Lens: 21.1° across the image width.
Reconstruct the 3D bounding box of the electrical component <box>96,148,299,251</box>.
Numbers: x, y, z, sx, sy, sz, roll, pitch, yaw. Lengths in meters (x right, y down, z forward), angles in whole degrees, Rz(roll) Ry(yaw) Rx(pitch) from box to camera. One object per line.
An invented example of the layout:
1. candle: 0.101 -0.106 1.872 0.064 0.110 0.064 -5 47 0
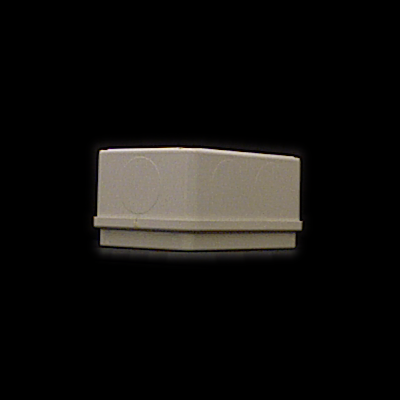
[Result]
1. electrical component: 0.000 0.000 0.649 0.078 0.057 0.113 2 1 40
